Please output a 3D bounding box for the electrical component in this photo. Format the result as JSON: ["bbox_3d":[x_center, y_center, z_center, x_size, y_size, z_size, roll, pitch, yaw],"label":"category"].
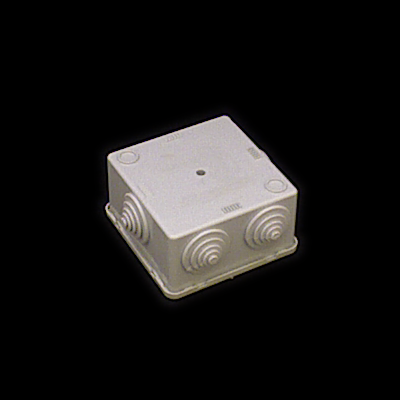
[{"bbox_3d":[0.000,0.000,0.635,0.100,0.049,0.099,-20,47,-21],"label":"electrical component"}]
